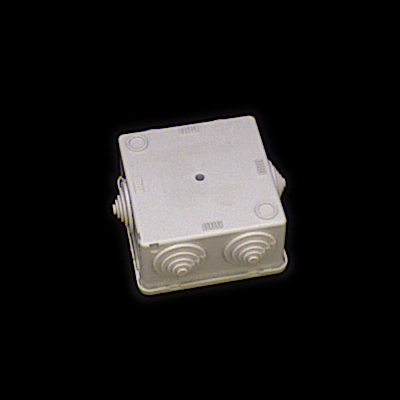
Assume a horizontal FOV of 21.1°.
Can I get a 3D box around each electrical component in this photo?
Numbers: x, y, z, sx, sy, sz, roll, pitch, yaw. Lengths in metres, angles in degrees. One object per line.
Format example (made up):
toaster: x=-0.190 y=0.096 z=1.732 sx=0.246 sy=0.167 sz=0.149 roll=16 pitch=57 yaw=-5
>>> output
electrical component: x=0.000 y=0.000 z=0.632 sx=0.100 sy=0.099 sz=0.049 roll=-9 pitch=-37 yaw=-7
